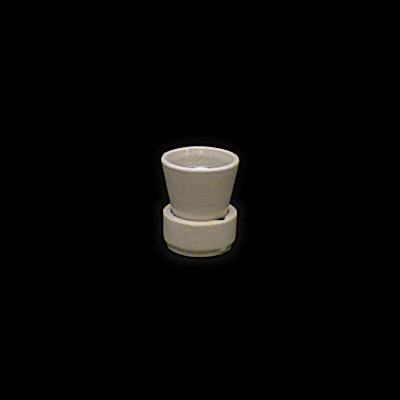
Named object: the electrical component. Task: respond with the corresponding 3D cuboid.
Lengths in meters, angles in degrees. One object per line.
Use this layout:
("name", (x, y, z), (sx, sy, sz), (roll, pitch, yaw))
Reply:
("electrical component", (0.000, 0.000, 0.637), (0.045, 0.056, 0.044), (0, 21, 0))
